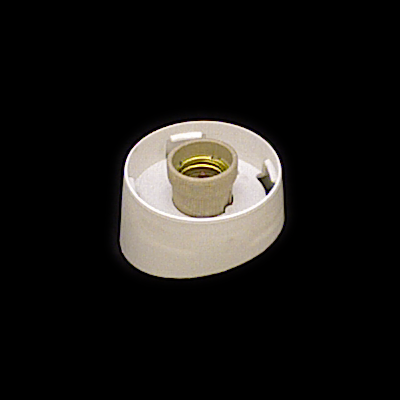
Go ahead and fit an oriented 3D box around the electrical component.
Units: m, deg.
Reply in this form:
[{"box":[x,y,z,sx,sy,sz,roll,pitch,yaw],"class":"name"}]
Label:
[{"box":[0.000,0.000,0.630,0.099,0.065,0.098,0,42,0],"class":"electrical component"}]
